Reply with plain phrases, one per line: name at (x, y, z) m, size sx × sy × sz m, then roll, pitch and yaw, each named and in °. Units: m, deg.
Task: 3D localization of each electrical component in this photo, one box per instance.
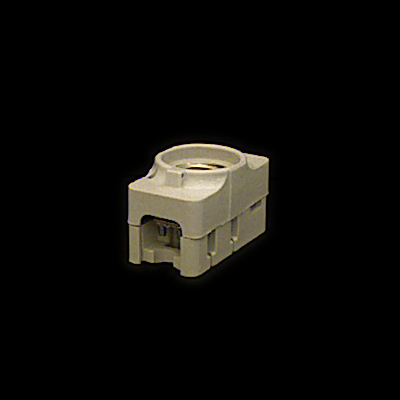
electrical component at (0.000, 0.000, 0.647) m, size 0.049 × 0.056 × 0.089 m, roll 13°, pitch 24°, yaw 27°
